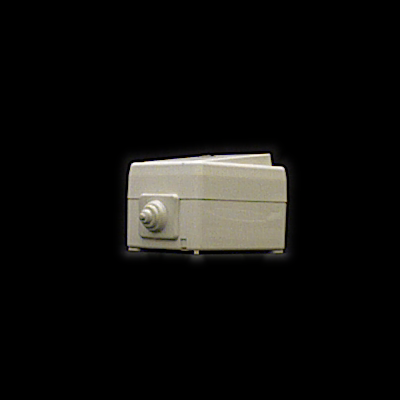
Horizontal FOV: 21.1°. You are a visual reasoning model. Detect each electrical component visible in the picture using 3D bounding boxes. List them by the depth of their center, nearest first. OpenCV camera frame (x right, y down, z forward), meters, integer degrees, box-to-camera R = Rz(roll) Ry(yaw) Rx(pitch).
[{"bbox_3d":[0.000,0.000,0.648,0.061,0.061,0.096,2,0,44],"label":"electrical component"}]
